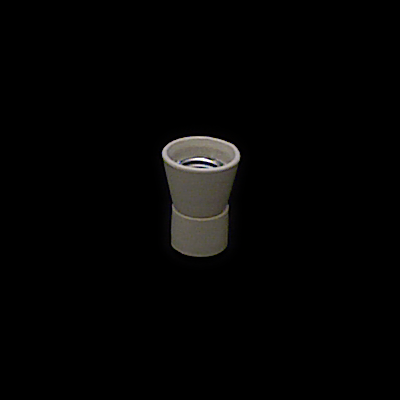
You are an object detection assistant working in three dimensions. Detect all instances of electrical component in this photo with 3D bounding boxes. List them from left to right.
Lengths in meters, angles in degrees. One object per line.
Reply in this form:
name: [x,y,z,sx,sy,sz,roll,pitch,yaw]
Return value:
electrical component: [0.000,0.000,0.635,0.044,0.066,0.044,1,30,0]
